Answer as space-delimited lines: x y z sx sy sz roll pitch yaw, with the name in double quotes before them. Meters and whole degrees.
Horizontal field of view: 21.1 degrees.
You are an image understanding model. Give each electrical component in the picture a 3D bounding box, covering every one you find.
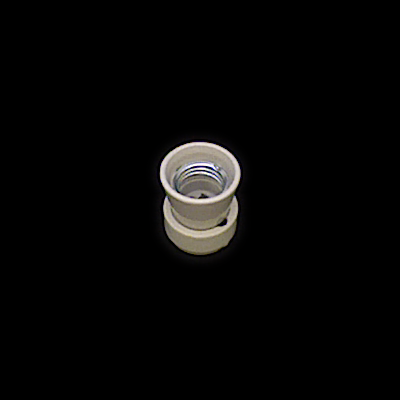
"electrical component" 0.000 0.000 0.628 0.045 0.044 0.055 0 -38 1
